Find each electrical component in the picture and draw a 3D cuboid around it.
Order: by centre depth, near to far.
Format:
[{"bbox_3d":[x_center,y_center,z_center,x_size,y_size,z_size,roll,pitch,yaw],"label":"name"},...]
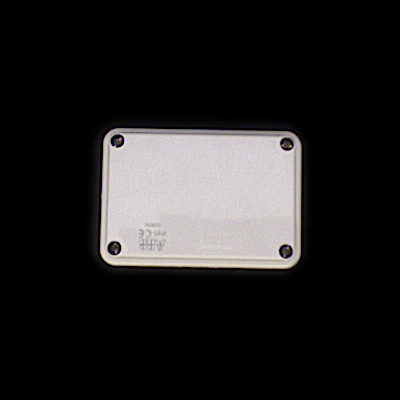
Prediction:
[{"bbox_3d":[0.000,0.000,0.627,0.113,0.078,0.057,1,-7,0],"label":"electrical component"}]
